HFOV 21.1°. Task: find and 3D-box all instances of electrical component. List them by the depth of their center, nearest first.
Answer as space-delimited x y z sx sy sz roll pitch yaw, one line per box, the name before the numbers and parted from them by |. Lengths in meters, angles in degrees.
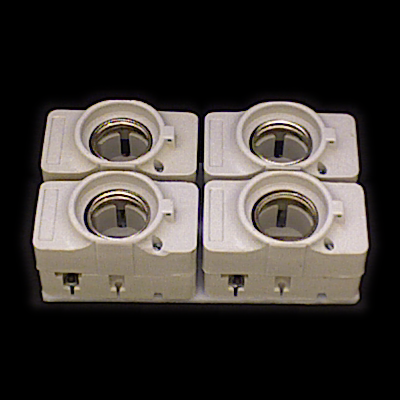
electrical component | 0.000 0.000 0.628 0.186 0.105 0.060 1 -38 0
